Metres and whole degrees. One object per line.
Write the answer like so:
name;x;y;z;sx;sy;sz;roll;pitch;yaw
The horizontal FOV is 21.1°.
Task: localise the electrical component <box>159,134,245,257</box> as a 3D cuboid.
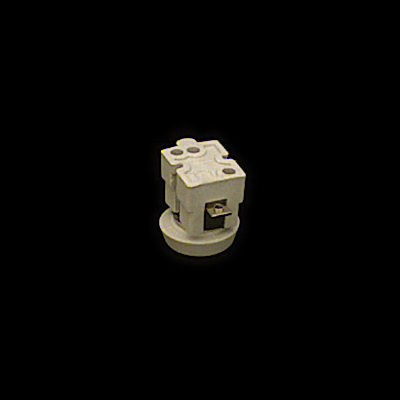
electrical component;0.000;0.000;0.643;0.049;0.056;0.065;-11;35;-20
